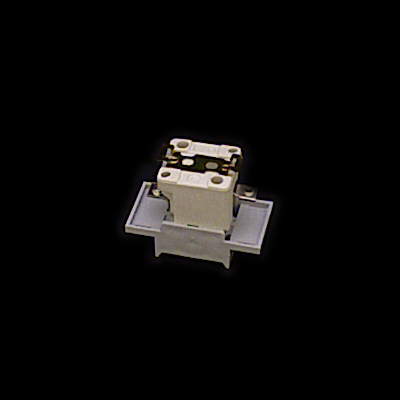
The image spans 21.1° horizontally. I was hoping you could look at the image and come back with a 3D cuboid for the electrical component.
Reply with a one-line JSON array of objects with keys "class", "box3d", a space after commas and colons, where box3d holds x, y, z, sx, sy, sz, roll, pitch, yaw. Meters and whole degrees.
[{"class": "electrical component", "box3d": [0.000, 0.000, 0.629, 0.081, 0.064, 0.042, 9, 43, 8]}]
